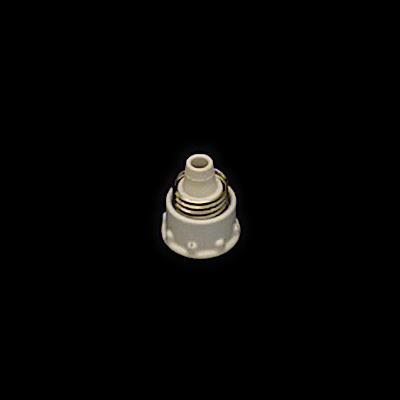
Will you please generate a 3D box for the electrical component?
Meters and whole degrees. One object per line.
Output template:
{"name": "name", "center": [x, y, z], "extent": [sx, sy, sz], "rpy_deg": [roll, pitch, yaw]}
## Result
{"name": "electrical component", "center": [0.000, 0.000, 0.636], "extent": [0.048, 0.062, 0.047], "rpy_deg": [0, 43, 1]}
